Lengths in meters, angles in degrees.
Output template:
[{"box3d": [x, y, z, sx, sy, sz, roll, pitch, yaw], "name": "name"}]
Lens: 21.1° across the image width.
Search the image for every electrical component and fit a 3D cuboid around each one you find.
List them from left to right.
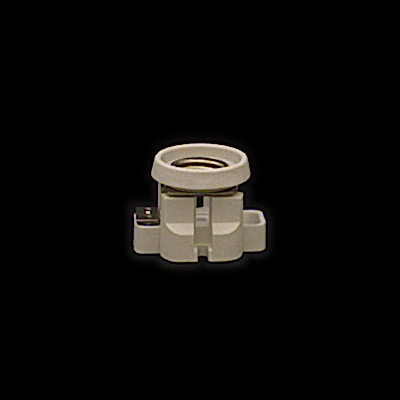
[{"box3d": [0.000, 0.000, 0.638, 0.078, 0.057, 0.057, -1, 21, -5], "name": "electrical component"}]
